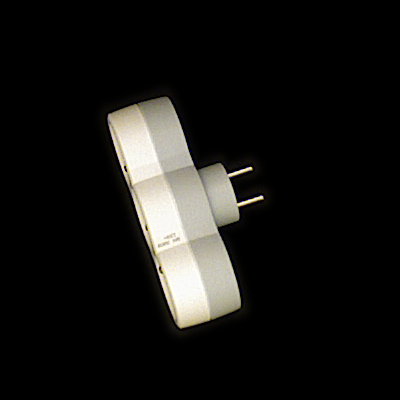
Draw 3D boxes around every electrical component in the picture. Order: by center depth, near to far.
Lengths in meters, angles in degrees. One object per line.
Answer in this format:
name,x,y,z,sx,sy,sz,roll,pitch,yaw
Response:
electrical component,0.000,0.000,0.638,0.074,0.138,0.052,-18,-16,-6
